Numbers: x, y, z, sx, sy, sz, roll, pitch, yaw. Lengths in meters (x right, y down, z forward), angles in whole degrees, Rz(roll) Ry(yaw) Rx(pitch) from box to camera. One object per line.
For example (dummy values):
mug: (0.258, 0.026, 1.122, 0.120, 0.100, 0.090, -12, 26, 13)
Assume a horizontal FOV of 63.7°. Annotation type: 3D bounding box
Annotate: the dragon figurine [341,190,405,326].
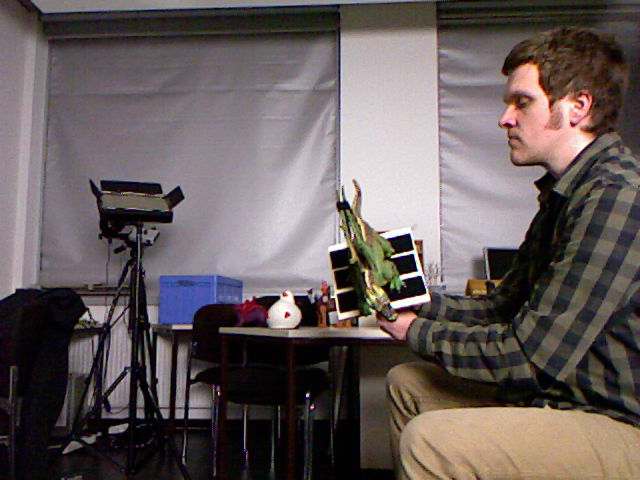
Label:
dragon figurine: (0.092, 0.002, 1.079, 0.122, 0.421, 0.238, -17, -33, 5)
